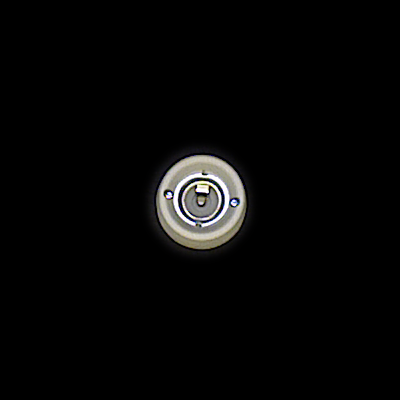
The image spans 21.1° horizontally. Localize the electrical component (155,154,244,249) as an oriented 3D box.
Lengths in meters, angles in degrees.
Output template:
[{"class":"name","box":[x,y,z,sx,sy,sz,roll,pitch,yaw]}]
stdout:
[{"class":"electrical component","box":[0.000,0.000,0.634,0.055,0.055,0.047,0,-6,-1]}]
